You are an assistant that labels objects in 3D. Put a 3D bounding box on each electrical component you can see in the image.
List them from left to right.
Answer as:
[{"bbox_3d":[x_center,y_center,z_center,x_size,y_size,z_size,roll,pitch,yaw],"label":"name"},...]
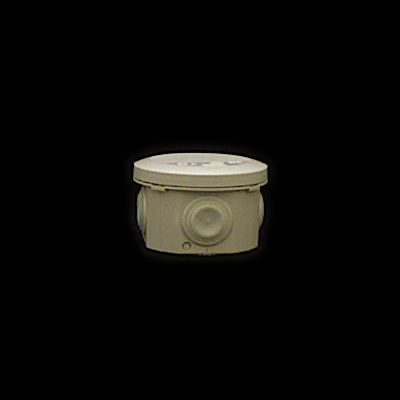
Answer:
[{"bbox_3d":[0.000,0.000,0.643,0.080,0.051,0.079,1,10,0],"label":"electrical component"}]
